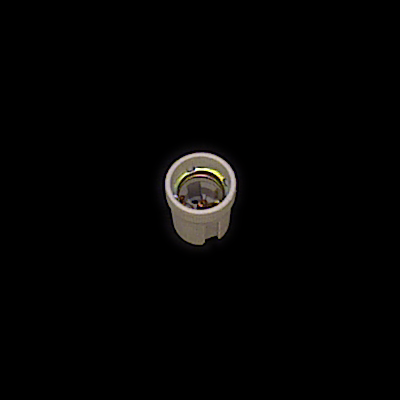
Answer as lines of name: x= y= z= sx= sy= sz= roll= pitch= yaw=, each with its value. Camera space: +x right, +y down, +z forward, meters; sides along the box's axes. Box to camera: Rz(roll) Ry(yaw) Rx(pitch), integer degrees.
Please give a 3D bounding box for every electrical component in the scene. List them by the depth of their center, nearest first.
electrical component: x=0.000 y=0.000 z=0.629 sx=0.040 sy=0.040 sz=0.046 roll=0 pitch=-28 yaw=0
